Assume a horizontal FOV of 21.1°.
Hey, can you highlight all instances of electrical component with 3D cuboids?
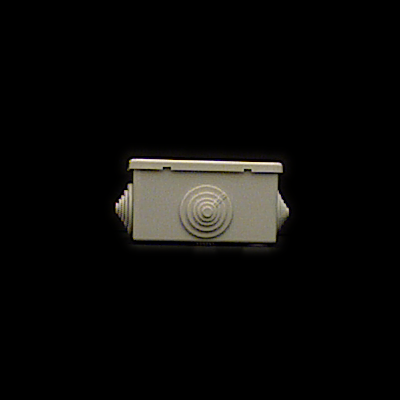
[{"bbox_3d":[0.000,0.000,0.656,0.100,0.048,0.099,1,1,-5],"label":"electrical component"}]
